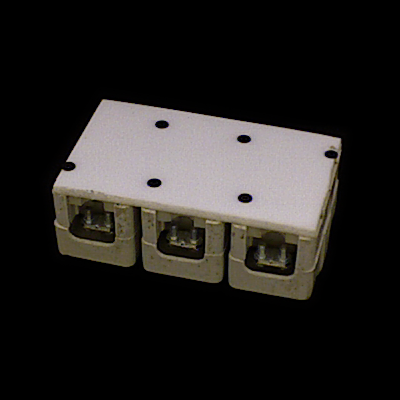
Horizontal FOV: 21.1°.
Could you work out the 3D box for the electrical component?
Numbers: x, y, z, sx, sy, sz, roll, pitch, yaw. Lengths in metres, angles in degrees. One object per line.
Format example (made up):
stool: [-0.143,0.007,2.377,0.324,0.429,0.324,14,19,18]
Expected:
electrical component: [0.000,0.000,0.635,0.150,0.063,0.088,10,42,11]
